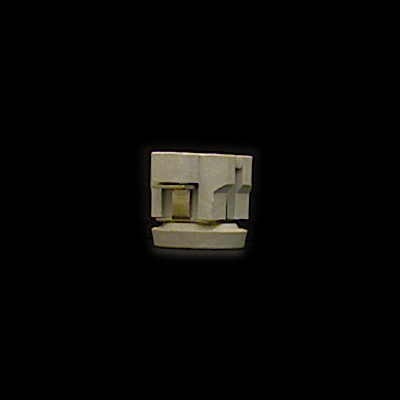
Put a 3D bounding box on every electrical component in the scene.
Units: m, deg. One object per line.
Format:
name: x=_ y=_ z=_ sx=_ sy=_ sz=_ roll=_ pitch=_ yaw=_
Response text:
electrical component: x=0.000 y=0.000 z=0.655 sx=0.057 sy=0.057 sz=0.079 roll=3 pitch=3 yaw=30
